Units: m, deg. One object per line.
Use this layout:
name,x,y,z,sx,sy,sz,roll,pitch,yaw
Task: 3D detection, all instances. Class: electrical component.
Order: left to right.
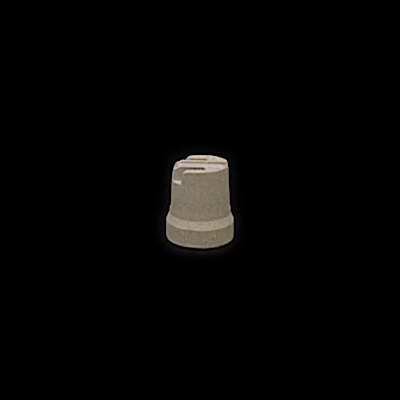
electrical component,0.000,0.000,0.642,0.040,0.046,0.040,1,21,0
